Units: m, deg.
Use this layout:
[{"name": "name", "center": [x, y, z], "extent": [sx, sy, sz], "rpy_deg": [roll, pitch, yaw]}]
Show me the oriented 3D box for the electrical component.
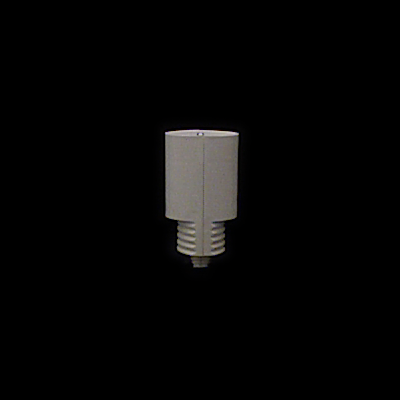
[{"name": "electrical component", "center": [0.000, 0.000, 0.643], "extent": [0.043, 0.081, 0.043], "rpy_deg": [2, 11, 0]}]
